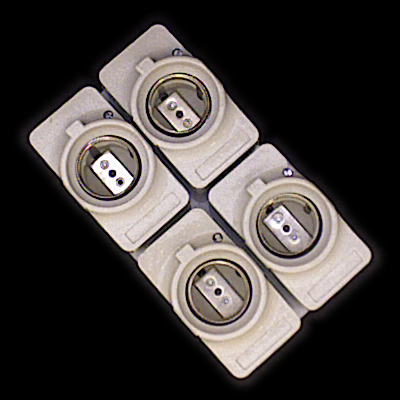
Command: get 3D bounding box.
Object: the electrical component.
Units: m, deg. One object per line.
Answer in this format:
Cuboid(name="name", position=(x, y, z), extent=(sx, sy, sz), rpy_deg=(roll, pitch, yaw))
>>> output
Cuboid(name="electrical component", position=(0.000, 0.000, 0.626), extent=(0.106, 0.186, 0.060), rpy_deg=(-42, -5, -4))
